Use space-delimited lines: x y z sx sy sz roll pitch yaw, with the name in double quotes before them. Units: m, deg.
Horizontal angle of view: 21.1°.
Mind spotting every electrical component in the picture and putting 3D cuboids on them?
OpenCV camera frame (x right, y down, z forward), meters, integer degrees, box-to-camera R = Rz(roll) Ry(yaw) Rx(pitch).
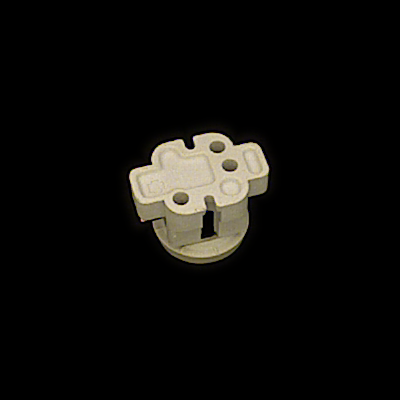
"electrical component" 0.000 0.000 0.636 0.079 0.057 0.057 -15 -35 -10
